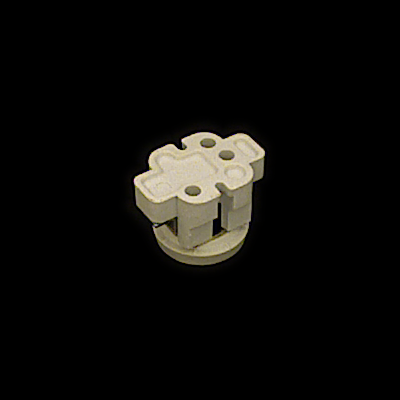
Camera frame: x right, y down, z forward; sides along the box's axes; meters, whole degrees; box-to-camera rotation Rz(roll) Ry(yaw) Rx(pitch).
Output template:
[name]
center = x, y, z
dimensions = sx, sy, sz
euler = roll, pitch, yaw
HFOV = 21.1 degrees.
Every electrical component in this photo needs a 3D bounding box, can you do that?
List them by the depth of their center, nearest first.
[electrical component]
center = 0.000, 0.000, 0.637
dimensions = 0.079, 0.057, 0.057
euler = -26, 49, -24
